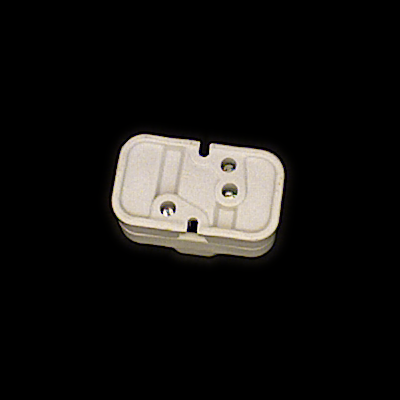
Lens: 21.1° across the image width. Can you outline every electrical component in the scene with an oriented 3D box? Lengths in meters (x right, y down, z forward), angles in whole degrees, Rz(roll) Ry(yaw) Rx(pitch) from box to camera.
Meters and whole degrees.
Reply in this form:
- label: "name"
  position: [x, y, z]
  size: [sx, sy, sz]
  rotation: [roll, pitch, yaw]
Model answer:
- label: "electrical component"
  position: [0.000, 0.000, 0.636]
  size: [0.095, 0.054, 0.059]
  rotation: [7, -16, 3]
